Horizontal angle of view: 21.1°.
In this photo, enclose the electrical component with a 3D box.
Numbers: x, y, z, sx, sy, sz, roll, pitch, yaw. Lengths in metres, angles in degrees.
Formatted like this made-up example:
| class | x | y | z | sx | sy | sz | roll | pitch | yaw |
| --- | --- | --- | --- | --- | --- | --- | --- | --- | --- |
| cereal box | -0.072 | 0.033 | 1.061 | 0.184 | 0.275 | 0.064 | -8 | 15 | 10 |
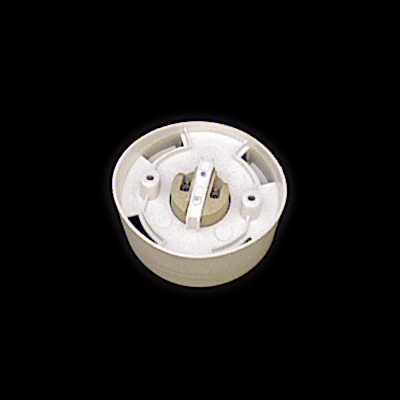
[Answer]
| class | x | y | z | sx | sy | sz | roll | pitch | yaw |
| --- | --- | --- | --- | --- | --- | --- | --- | --- | --- |
| electrical component | 0.000 | 0.000 | 0.624 | 0.099 | 0.099 | 0.064 | 0 | -27 | -1 |
